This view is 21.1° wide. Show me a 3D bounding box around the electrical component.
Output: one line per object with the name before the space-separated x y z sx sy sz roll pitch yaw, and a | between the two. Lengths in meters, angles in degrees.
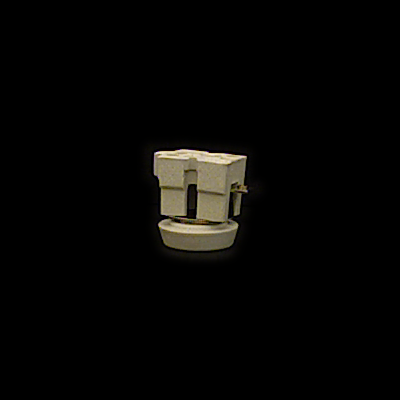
electrical component | 0.000 0.000 0.651 0.066 0.056 0.048 7 12 20
